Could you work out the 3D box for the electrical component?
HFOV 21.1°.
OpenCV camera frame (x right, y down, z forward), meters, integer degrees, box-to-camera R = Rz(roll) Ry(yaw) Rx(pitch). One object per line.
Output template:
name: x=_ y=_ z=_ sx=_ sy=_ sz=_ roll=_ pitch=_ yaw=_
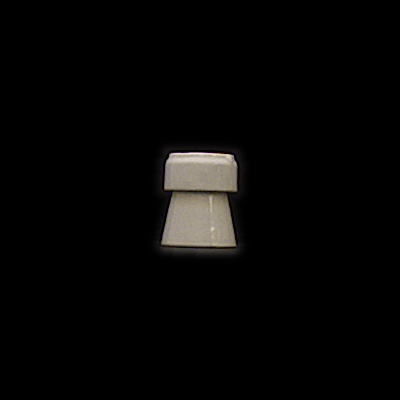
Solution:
electrical component: x=0.000 y=0.000 z=0.651 sx=0.045 sy=0.055 sz=0.045 roll=2 pitch=1 yaw=0
